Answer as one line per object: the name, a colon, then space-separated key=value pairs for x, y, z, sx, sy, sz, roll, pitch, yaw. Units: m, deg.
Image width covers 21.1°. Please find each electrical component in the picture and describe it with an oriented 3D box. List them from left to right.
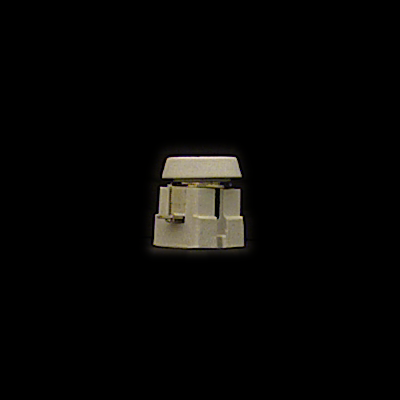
electrical component: x=0.000 y=0.000 z=0.655 sx=0.048 sy=0.055 sz=0.067 roll=0 pitch=0 yaw=40
